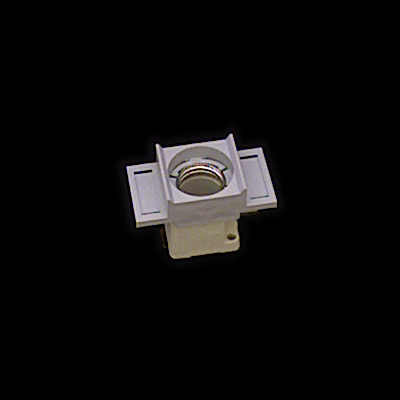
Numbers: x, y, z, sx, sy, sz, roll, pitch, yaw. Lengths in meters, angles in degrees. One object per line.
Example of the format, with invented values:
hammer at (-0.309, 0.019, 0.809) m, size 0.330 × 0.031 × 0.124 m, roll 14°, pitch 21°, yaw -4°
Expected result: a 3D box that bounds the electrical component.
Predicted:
electrical component at (0.000, 0.000, 0.627) m, size 0.081 × 0.042 × 0.064 m, roll -8°, pitch -39°, yaw -6°
